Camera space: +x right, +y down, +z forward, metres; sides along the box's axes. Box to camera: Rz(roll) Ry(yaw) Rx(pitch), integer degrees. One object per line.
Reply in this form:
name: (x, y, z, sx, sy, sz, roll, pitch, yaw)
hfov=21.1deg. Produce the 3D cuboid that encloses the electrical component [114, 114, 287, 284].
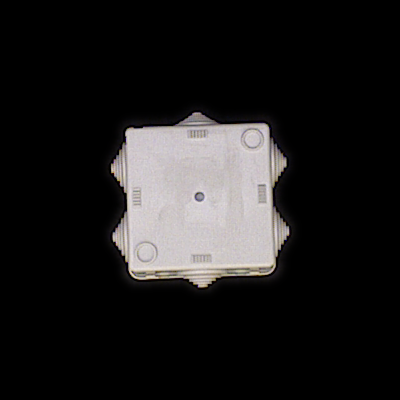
electrical component: (0.000, 0.000, 0.633, 0.100, 0.100, 0.048, -2, -7, -1)
